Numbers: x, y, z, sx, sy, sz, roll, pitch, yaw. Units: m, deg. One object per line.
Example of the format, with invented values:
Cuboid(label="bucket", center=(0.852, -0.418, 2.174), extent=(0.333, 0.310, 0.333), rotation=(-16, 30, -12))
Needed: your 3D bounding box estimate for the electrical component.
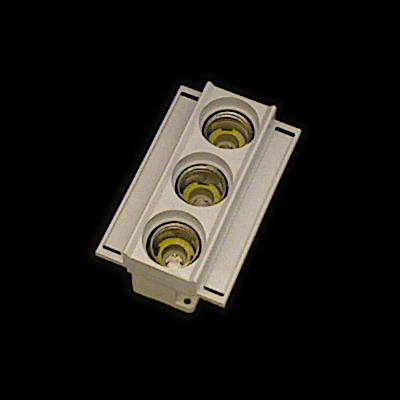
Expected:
Cuboid(label="electrical component", center=(0.000, 0.000, 0.638), extent=(0.078, 0.121, 0.063), rotation=(21, -25, 9))
